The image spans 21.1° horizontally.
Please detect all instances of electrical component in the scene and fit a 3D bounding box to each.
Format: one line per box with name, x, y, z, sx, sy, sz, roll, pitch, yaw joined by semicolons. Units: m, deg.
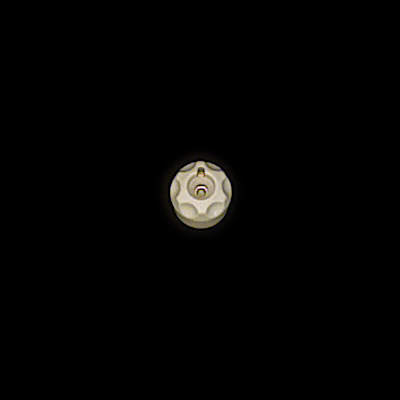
electrical component;0.000;0.000;0.634;0.035;0.035;0.061;0;-16;1
